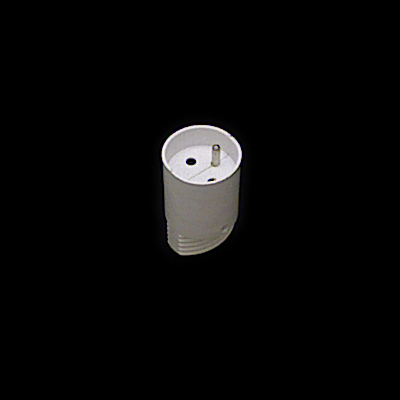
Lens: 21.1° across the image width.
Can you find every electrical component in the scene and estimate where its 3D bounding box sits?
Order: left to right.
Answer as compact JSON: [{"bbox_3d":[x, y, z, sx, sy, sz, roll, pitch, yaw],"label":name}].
[{"bbox_3d":[0.000,0.000,0.621,0.043,0.043,0.081,0,-38,-1],"label":"electrical component"}]
